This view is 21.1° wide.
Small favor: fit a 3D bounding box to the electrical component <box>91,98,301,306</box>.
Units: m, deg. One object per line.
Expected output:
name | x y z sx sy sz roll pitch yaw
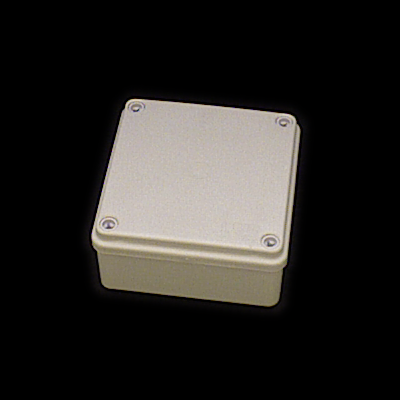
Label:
electrical component | 0.000 0.000 0.631 0.108 0.108 0.056 6 -38 4
